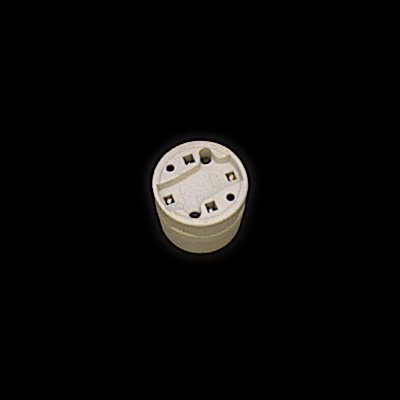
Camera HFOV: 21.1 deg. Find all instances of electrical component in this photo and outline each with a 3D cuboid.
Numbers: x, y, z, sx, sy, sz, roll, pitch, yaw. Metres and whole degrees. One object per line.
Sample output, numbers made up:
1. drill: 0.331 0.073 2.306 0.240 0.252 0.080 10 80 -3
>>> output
1. electrical component: 0.000 0.000 0.633 0.055 0.056 0.047 0 -28 0
